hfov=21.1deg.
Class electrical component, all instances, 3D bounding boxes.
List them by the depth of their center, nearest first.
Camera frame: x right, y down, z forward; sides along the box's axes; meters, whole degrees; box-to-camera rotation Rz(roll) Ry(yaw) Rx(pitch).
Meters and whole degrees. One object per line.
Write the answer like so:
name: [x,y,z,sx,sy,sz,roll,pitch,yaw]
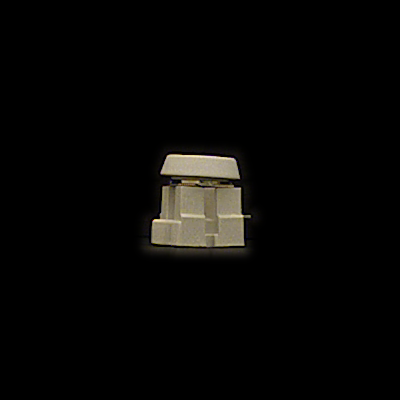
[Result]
electrical component: [0.000,0.000,0.658,0.067,0.055,0.048,1,4,-25]
